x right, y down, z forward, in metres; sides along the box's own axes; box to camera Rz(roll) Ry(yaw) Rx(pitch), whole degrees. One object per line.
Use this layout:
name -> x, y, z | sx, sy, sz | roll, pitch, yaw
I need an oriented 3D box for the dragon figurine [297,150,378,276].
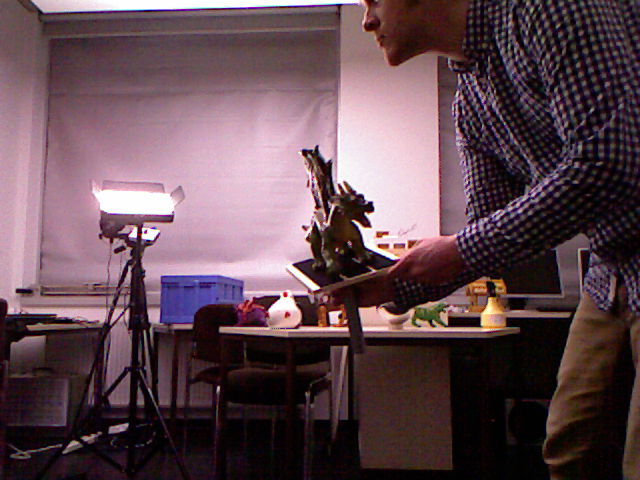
dragon figurine -> 0.008, -0.069, 1.059 | 0.123, 0.240, 0.414 | -18, 19, -18
